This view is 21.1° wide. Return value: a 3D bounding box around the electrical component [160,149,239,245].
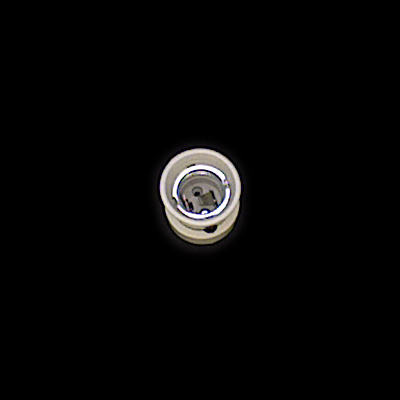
[{"bbox_3d":[0.000,0.000,0.627,0.045,0.045,0.055,0,-17,1],"label":"electrical component"}]
